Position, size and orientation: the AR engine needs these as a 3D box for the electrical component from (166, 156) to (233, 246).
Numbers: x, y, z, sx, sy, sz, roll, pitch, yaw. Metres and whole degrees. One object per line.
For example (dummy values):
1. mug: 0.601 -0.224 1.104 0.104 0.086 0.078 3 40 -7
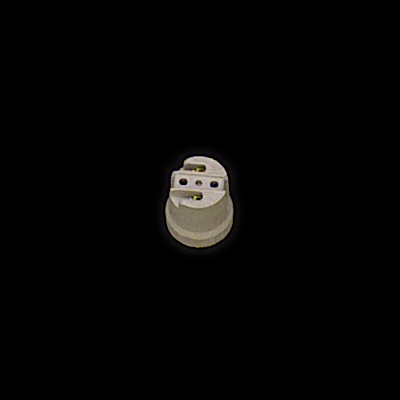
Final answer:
1. electrical component: 0.000 0.000 0.633 0.040 0.040 0.046 0 -27 -1
